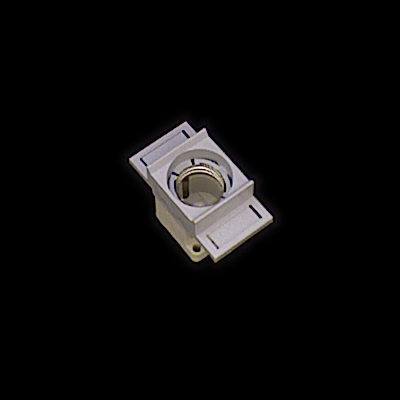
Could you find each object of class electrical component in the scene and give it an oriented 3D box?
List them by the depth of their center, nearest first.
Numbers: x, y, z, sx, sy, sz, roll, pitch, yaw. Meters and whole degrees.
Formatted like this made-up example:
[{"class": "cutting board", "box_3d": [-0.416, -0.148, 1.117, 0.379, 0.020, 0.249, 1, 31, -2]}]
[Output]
[{"class": "electrical component", "box_3d": [0.000, 0.000, 0.623, 0.042, 0.081, 0.063, -34, -22, -17]}]
